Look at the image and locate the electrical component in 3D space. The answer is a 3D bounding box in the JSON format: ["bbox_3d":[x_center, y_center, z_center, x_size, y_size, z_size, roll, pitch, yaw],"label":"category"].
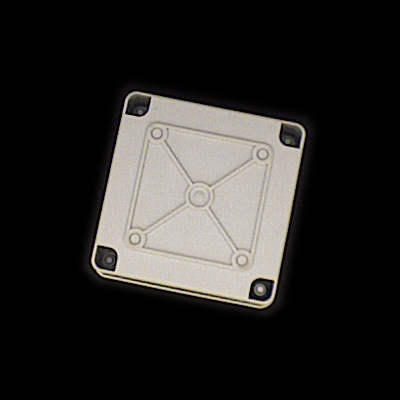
[{"bbox_3d":[0.000,0.000,0.628,0.109,0.109,0.056,11,-6,1],"label":"electrical component"}]
